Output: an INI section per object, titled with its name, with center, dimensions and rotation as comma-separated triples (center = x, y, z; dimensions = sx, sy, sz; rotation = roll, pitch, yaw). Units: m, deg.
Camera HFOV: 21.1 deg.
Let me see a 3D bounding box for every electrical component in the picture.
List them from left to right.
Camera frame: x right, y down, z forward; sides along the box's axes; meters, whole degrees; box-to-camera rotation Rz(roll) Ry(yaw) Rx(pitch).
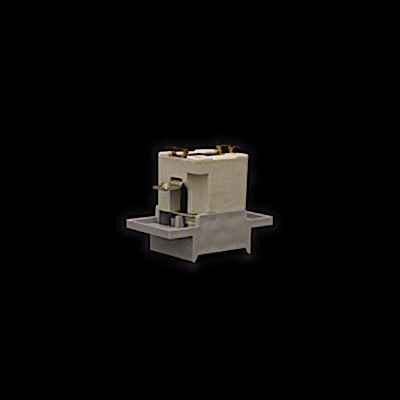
[electrical component]
center = 0.000, 0.000, 0.645
dimensions = 0.081, 0.064, 0.042
rotation = -8, 14, -40
